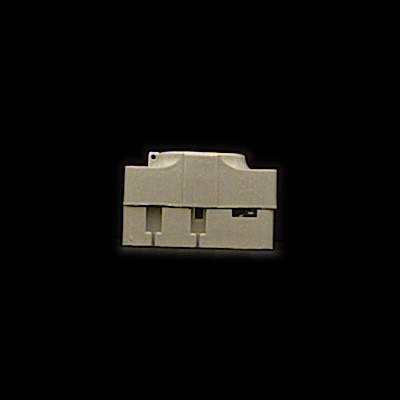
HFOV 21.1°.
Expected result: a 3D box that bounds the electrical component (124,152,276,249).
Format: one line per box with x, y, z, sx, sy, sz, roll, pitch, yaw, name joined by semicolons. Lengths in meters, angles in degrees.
0.000;0.000;0.657;0.090;0.056;0.050;2;1;-1;electrical component
